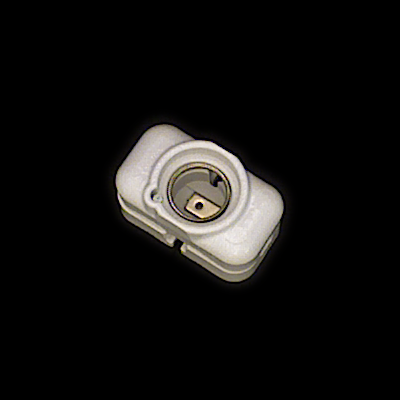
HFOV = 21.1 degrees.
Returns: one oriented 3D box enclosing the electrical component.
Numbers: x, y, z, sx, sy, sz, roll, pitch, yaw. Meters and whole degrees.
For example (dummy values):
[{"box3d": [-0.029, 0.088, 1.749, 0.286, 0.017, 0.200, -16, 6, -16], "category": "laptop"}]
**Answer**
[{"box3d": [0.000, 0.000, 0.633, 0.095, 0.054, 0.059, 31, -14, 9], "category": "electrical component"}]
